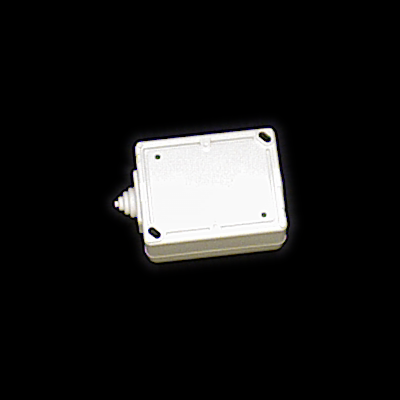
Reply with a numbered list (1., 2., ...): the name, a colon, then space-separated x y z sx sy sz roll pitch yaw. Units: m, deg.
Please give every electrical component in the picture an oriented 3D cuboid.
1. electrical component: 0.000 0.000 0.625 0.096 0.062 0.060 -6 -16 -2
